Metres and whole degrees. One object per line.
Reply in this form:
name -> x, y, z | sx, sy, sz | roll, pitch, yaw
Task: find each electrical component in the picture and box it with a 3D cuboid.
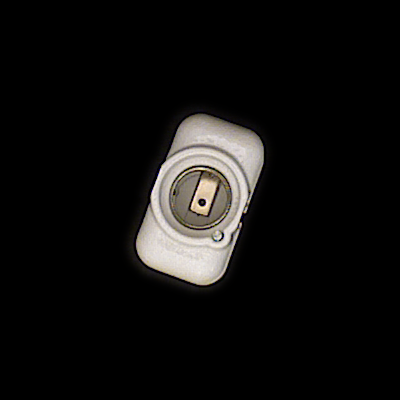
electrical component -> 0.000, 0.000, 0.635 | 0.054, 0.095, 0.059 | 19, -5, 3
